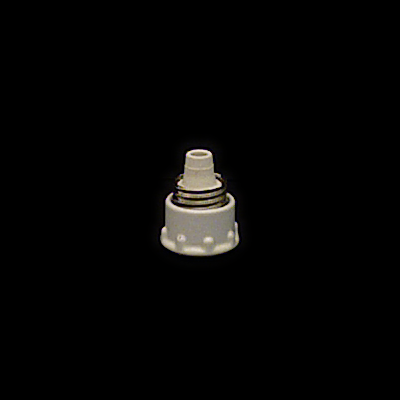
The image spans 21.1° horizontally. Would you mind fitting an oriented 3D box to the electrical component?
[{"bbox_3d":[0.000,0.000,0.644,0.048,0.063,0.047,0,22,1],"label":"electrical component"}]
